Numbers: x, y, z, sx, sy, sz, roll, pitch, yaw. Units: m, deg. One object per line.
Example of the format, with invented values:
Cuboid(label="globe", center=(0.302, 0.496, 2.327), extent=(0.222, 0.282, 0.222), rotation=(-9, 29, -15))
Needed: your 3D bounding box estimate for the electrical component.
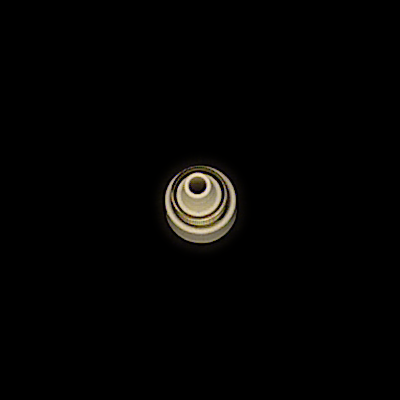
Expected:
Cuboid(label="electrical component", center=(0.000, 0.000, 0.634), extent=(0.043, 0.043, 0.061), rotation=(0, -16, 2))
